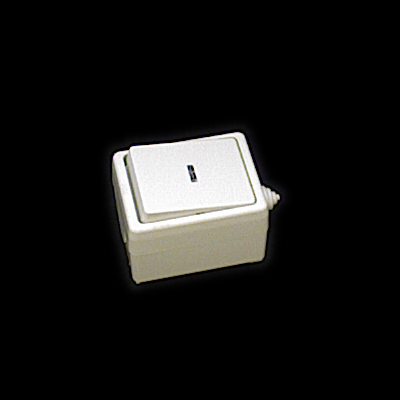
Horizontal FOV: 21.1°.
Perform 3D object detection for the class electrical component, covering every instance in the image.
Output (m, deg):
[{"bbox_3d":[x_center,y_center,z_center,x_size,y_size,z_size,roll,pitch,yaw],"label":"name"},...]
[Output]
[{"bbox_3d":[0.000,0.000,0.628,0.096,0.061,0.061,-10,-37,-8],"label":"electrical component"}]
